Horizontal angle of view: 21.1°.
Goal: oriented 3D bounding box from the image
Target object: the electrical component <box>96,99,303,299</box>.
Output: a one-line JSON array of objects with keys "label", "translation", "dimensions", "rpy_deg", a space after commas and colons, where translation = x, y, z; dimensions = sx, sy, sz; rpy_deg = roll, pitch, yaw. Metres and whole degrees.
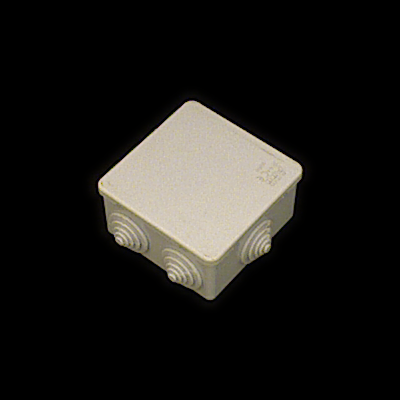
[{"label": "electrical component", "translation": [0.000, 0.000, 0.641], "dimensions": [0.099, 0.100, 0.049], "rpy_deg": [33, -30, 22]}]
